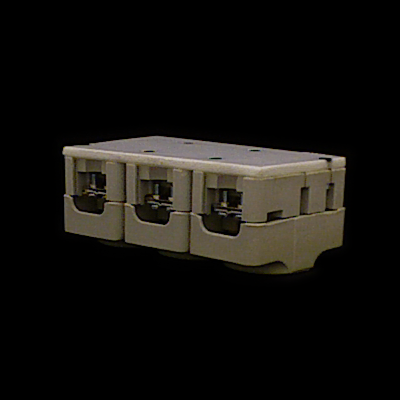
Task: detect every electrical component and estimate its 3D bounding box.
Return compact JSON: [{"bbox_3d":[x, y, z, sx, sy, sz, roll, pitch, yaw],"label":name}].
[{"bbox_3d":[0.000,0.000,0.651,0.149,0.062,0.089,9,13,38],"label":"electrical component"}]
